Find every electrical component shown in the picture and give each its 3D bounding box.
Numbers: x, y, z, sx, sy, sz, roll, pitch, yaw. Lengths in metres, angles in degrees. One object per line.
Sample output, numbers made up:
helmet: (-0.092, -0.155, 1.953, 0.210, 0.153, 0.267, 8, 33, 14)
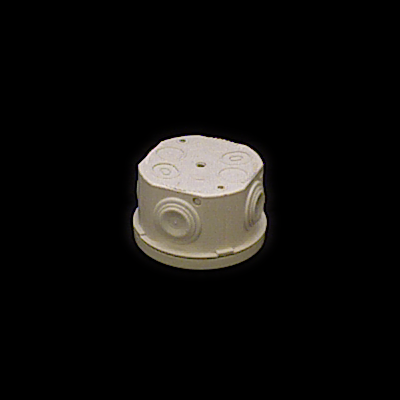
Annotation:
electrical component: (0.000, 0.000, 0.636, 0.080, 0.051, 0.079, 1, 32, -1)
